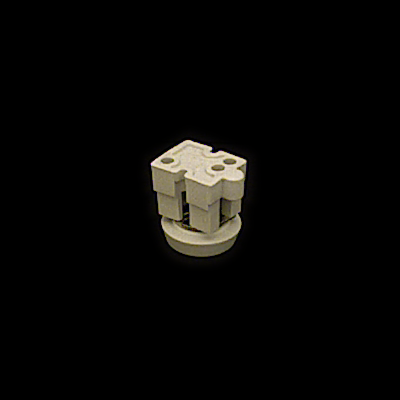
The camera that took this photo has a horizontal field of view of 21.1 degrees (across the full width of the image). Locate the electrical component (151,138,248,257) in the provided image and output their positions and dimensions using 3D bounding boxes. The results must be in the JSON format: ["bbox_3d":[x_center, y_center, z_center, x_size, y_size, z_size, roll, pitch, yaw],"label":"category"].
[{"bbox_3d":[0.000,0.000,0.643,0.066,0.056,0.048,22,39,31],"label":"electrical component"}]
